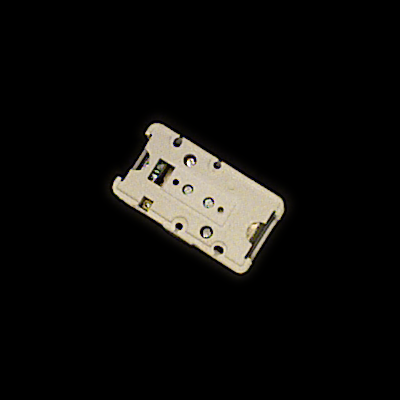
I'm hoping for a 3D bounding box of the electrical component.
[{"bbox_3d":[0.000,0.000,0.637,0.089,0.050,0.055,32,-4,4],"label":"electrical component"}]
